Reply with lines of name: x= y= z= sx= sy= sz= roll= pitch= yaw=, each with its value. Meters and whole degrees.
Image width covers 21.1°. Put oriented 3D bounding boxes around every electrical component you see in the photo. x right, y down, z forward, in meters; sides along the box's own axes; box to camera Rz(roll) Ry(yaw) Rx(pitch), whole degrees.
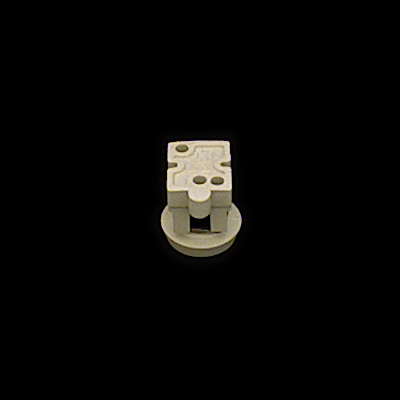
electrical component: x=0.000 y=0.000 z=0.640 sx=0.048 sy=0.056 sz=0.066 roll=-1 pitch=42 yaw=0
